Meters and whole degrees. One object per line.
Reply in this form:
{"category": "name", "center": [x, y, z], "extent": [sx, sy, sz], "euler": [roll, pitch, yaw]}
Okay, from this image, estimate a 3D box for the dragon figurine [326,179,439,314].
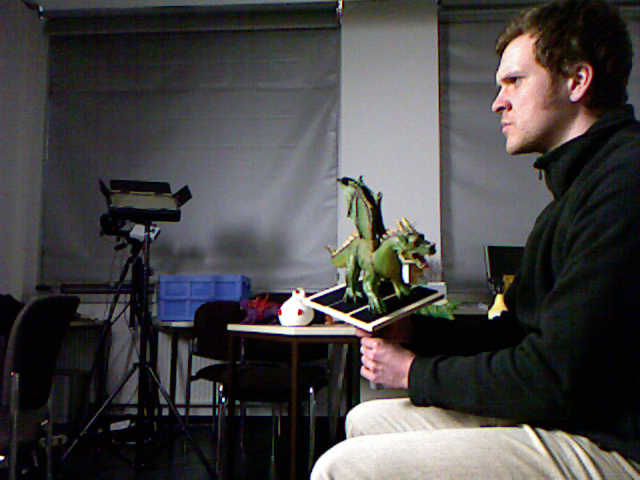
{"category": "dragon figurine", "center": [0.086, -0.005, 1.017], "extent": [0.123, 0.239, 0.414], "euler": [-17, 21, -24]}
